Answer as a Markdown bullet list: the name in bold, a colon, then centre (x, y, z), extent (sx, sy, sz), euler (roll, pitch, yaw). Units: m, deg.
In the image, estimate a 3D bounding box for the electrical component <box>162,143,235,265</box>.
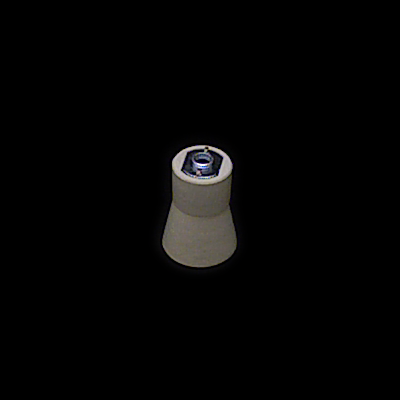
- **electrical component**: centre (0.000, 0.000, 0.628), extent (0.044, 0.066, 0.044), euler (1, 42, -1)
